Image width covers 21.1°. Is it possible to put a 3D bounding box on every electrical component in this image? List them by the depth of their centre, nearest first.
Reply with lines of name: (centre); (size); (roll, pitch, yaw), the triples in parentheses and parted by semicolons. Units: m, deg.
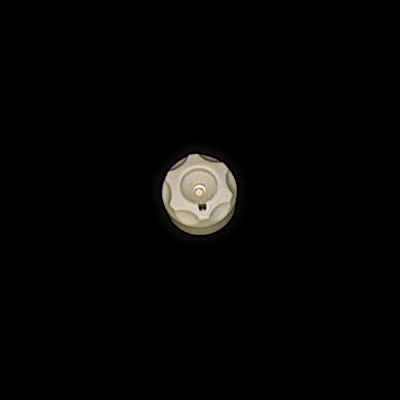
electrical component: (0.000, 0.000, 0.634); (0.043, 0.043, 0.062); (0, -17, 1)
